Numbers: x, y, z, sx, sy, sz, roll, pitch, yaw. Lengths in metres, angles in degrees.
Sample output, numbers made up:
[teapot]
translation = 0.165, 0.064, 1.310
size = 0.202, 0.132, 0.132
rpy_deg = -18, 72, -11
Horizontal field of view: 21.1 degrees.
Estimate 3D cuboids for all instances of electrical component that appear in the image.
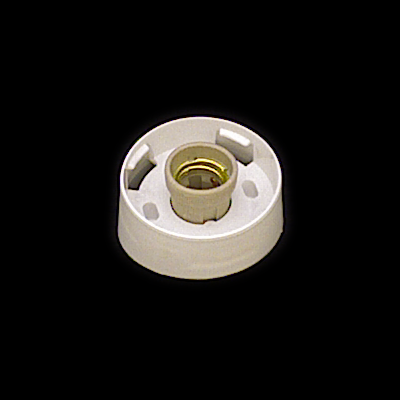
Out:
[electrical component]
translation = 0.000, 0.000, 0.627
size = 0.099, 0.098, 0.064
rpy_deg = 0, -38, 0
